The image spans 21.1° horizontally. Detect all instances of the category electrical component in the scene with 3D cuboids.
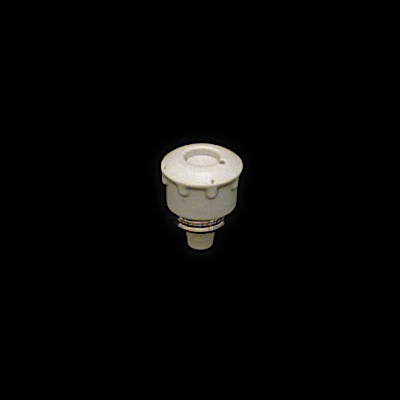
[{"bbox_3d":[0.000,0.000,0.643,0.048,0.063,0.047,1,32,0],"label":"electrical component"}]
